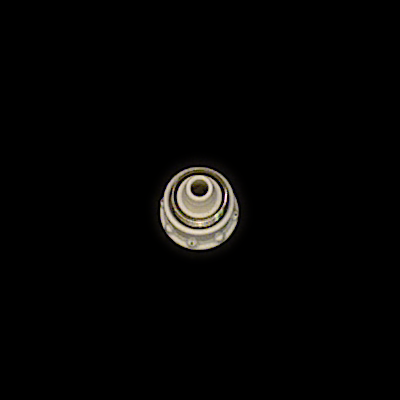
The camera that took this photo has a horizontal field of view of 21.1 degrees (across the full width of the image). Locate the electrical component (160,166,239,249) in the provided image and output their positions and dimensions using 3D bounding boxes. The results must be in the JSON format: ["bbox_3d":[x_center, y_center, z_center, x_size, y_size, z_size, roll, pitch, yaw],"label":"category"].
[{"bbox_3d":[0.000,0.000,0.633,0.048,0.048,0.061,0,-15,0],"label":"electrical component"}]
